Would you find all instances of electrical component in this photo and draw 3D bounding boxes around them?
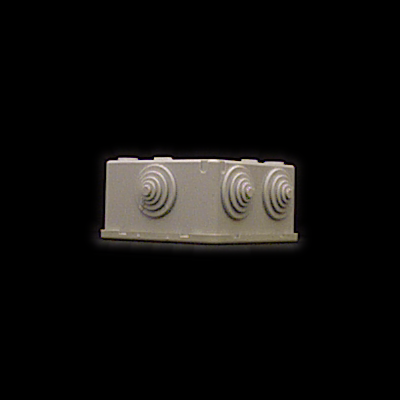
[{"bbox_3d":[0.000,0.000,0.648,0.099,0.048,0.100,1,0,38],"label":"electrical component"}]
